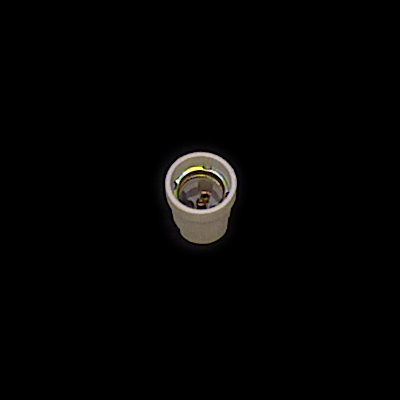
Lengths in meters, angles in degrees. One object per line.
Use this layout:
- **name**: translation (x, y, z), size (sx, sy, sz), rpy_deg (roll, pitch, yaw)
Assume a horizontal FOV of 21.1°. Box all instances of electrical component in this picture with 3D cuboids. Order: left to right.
- **electrical component**: translation (0.000, 0.000, 0.628), size (0.040, 0.040, 0.046), rpy_deg (0, -28, 0)
